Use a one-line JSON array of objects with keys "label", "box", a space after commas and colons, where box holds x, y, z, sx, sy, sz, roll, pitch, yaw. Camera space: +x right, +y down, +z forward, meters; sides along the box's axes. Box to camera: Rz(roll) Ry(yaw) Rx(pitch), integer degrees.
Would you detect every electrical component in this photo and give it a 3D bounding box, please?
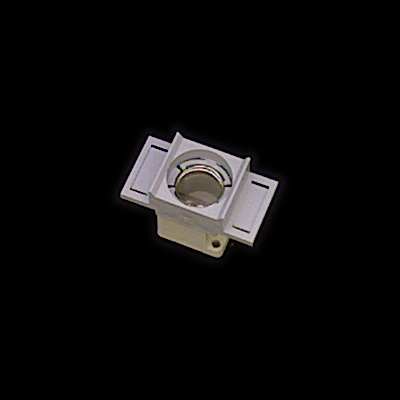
[{"label": "electrical component", "box": [0.000, 0.000, 0.624, 0.081, 0.042, 0.063, 20, -24, 9]}]
